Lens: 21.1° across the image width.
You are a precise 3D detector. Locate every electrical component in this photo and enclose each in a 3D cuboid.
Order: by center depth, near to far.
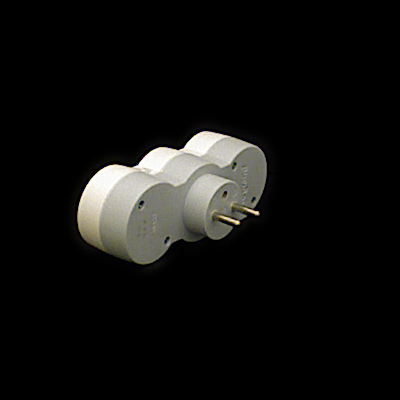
[{"bbox_3d":[0.000,0.000,0.644,0.073,0.053,0.138,19,27,34],"label":"electrical component"}]
